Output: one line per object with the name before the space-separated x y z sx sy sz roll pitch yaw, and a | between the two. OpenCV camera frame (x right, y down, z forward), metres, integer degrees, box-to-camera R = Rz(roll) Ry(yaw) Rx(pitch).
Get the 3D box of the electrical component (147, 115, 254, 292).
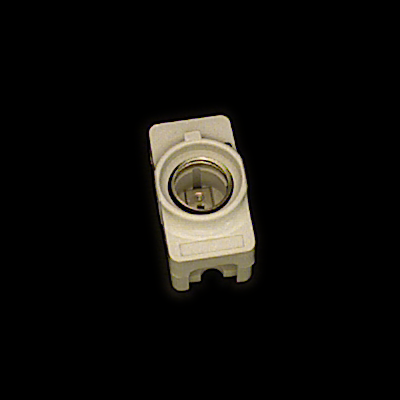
electrical component | 0.000 0.000 0.636 0.050 0.089 0.055 -9 -26 -4
